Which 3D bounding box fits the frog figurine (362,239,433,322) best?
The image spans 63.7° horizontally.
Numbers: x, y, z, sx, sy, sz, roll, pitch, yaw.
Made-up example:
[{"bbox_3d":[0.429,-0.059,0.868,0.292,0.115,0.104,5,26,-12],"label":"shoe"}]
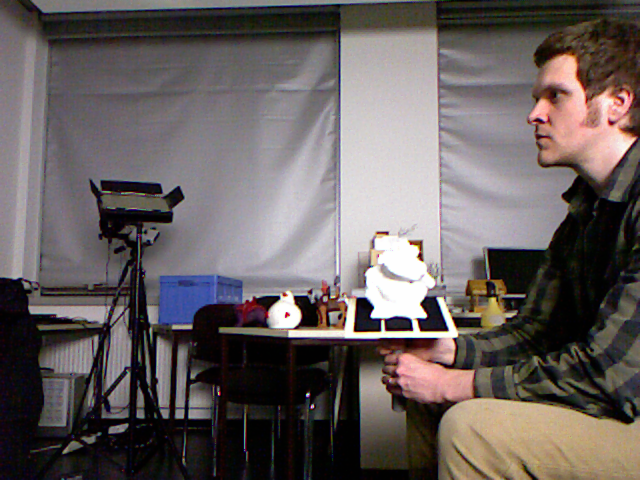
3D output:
[{"bbox_3d":[0.152,0.070,1.014,0.137,0.158,0.124,3,15,20],"label":"frog figurine"}]
